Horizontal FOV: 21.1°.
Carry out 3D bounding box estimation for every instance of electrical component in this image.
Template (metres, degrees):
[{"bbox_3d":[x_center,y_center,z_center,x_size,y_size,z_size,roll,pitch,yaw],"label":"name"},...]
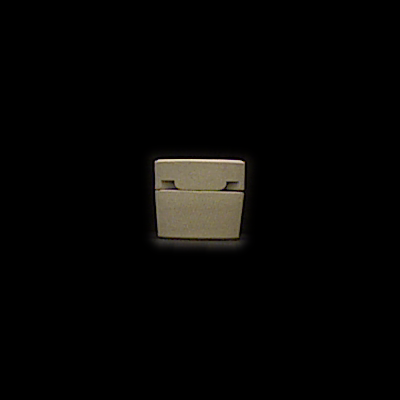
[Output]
[{"bbox_3d":[0.000,0.000,0.649,0.055,0.047,0.055,1,0,0],"label":"electrical component"}]
